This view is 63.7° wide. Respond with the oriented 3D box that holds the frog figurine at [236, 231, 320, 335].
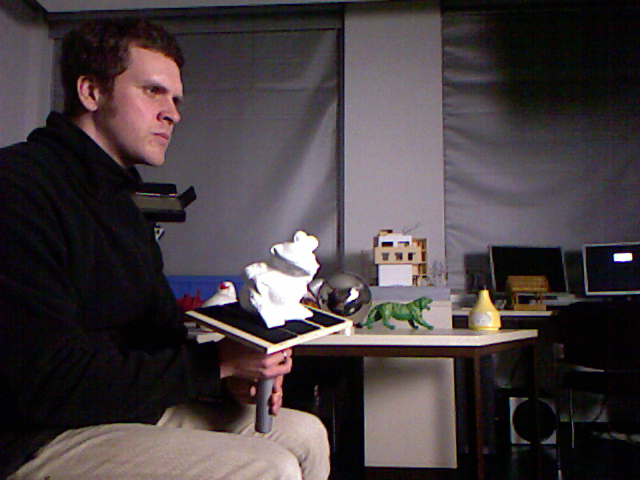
[{"bbox_3d":[-0.069,0.059,0.856,0.137,0.158,0.124,1,12,-27],"label":"frog figurine"}]
